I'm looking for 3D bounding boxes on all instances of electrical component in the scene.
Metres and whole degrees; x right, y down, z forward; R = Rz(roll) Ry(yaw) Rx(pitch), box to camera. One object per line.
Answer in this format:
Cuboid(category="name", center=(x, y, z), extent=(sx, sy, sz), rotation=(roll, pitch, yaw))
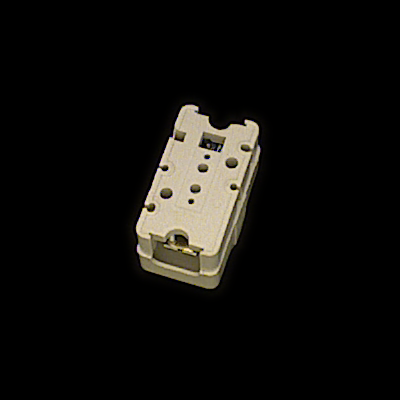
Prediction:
Cuboid(category="electrical component", center=(0.000, 0.000, 0.636), extent=(0.050, 0.090, 0.055), rotation=(15, -26, 8))
